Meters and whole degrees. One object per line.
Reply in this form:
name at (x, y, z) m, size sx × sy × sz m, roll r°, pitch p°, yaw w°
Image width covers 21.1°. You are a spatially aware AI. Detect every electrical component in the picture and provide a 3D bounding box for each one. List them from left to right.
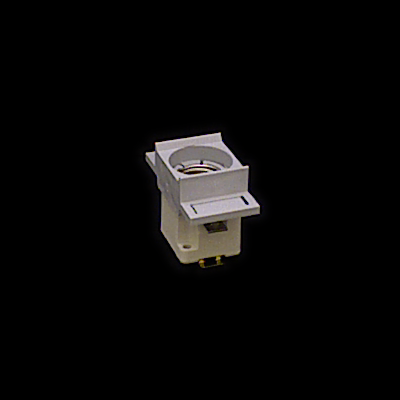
electrical component at (0.000, 0.000, 0.635) m, size 0.042 × 0.065 × 0.079 m, roll -11°, pitch 34°, yaw -17°
